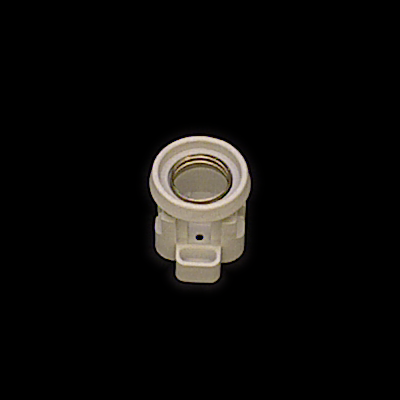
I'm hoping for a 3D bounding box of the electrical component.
[{"bbox_3d":[0.000,0.000,0.630,0.058,0.078,0.057,2,-37,1],"label":"electrical component"}]
